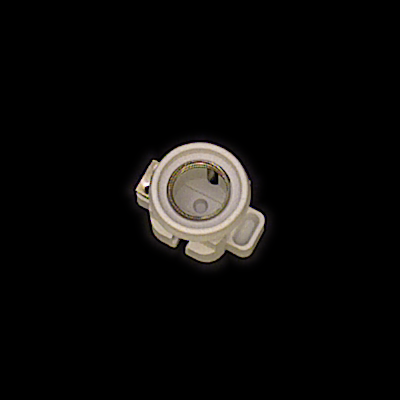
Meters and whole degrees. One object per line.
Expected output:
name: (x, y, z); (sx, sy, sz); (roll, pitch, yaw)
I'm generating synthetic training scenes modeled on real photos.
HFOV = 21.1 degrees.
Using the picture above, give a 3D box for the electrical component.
electrical component: (0.000, 0.000, 0.628); (0.078, 0.058, 0.056); (27, -15, 8)
